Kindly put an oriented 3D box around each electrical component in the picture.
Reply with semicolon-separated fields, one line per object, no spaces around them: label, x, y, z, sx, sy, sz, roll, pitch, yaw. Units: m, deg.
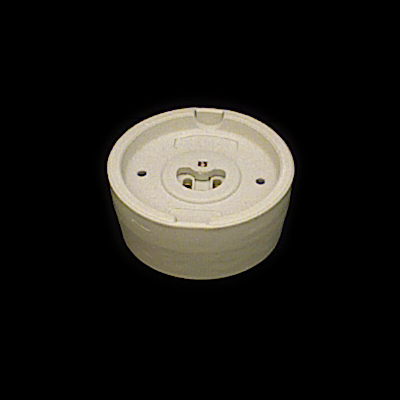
electrical component;0.000;0.000;0.640;0.108;0.061;0.106;1;43;0
